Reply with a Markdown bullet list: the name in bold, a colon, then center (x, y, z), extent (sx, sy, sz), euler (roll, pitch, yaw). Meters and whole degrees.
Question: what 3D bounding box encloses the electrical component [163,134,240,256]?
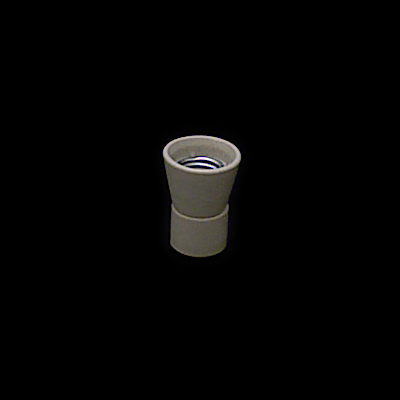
- **electrical component**: center (0.000, 0.000, 0.634), extent (0.044, 0.066, 0.044), euler (2, 31, -1)
